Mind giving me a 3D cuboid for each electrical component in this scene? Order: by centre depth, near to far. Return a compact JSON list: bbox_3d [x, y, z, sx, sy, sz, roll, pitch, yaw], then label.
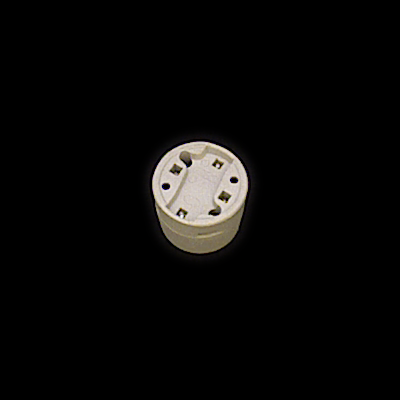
[{"bbox_3d":[0.000,0.000,0.634,0.055,0.056,0.047,0,-27,0],"label":"electrical component"}]
